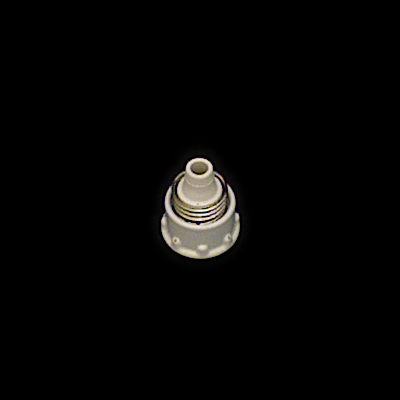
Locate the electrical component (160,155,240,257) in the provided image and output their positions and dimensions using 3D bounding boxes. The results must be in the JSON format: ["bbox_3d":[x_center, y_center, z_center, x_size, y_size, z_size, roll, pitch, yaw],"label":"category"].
[{"bbox_3d":[0.000,0.000,0.636,0.048,0.048,0.062,0,-38,0],"label":"electrical component"}]
